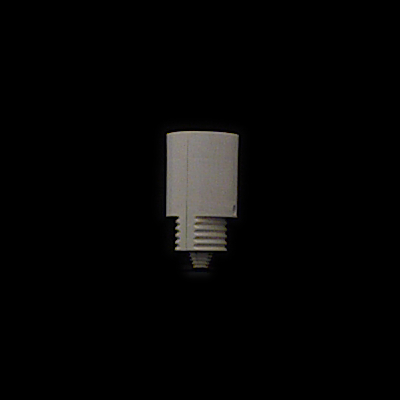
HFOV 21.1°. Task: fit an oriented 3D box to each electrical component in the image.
[{"bbox_3d":[0.000,0.000,0.652,0.043,0.081,0.043,2,1,0],"label":"electrical component"}]
